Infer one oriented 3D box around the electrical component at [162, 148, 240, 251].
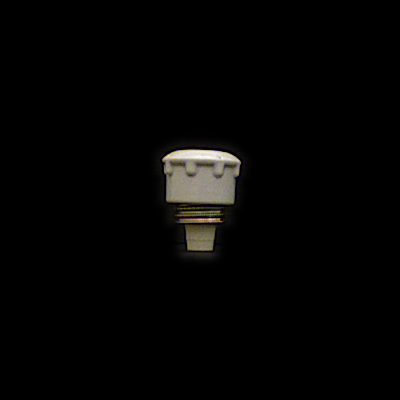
[{"bbox_3d":[0.000,0.000,0.657,0.048,0.062,0.048,2,2,1],"label":"electrical component"}]
